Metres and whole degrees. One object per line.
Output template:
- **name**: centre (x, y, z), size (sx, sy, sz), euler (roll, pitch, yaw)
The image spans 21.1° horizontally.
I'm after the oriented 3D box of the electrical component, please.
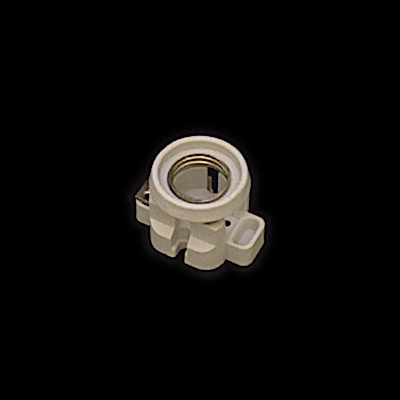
- **electrical component**: centre (0.000, 0.000, 0.629), size (0.078, 0.058, 0.057), euler (23, -34, 16)
